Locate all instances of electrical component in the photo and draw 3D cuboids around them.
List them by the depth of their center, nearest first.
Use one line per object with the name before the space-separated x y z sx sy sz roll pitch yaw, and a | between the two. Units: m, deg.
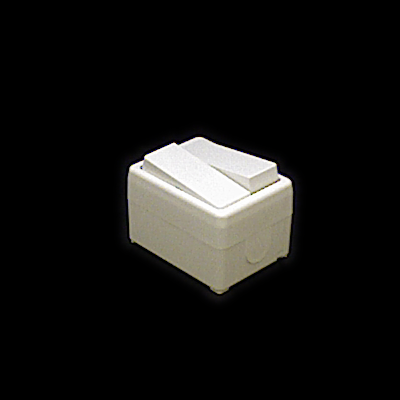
electrical component | 0.000 0.000 0.636 0.061 0.061 0.095 -26 41 -37
